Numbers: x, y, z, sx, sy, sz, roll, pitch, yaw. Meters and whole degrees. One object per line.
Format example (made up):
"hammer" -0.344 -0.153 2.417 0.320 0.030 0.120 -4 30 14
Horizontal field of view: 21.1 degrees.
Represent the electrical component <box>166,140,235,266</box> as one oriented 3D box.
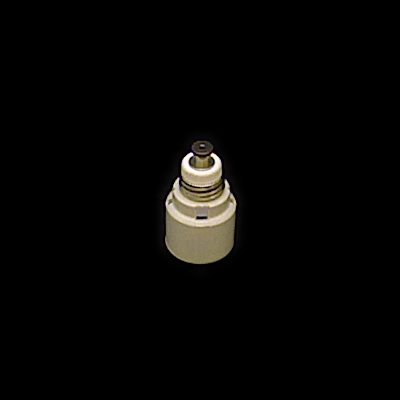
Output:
"electrical component" 0.000 0.000 0.624 0.040 0.079 0.039 1 41 -1
